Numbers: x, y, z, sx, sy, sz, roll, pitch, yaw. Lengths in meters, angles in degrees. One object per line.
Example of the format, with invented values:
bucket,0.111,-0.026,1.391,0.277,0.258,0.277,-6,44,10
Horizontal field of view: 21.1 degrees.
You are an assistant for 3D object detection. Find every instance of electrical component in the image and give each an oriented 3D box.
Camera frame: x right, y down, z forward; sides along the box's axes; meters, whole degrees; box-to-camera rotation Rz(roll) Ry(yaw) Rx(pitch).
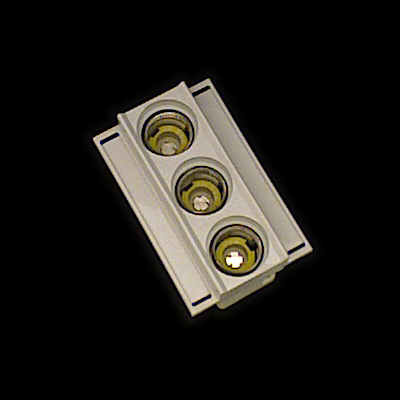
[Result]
electrical component,0.000,0.000,0.637,0.079,0.121,0.063,-28,-15,-8
